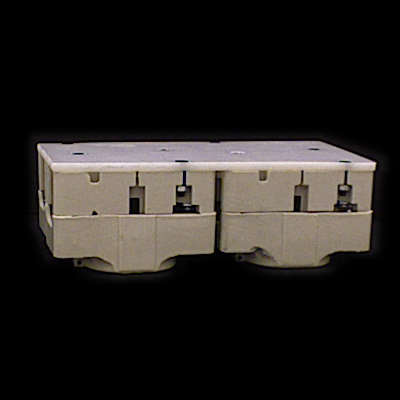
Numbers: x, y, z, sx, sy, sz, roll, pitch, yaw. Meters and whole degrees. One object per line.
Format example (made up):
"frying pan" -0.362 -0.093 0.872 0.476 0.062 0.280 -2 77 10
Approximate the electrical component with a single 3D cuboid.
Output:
"electrical component" 0.000 0.000 0.644 0.186 0.061 0.104 -1 10 -13
